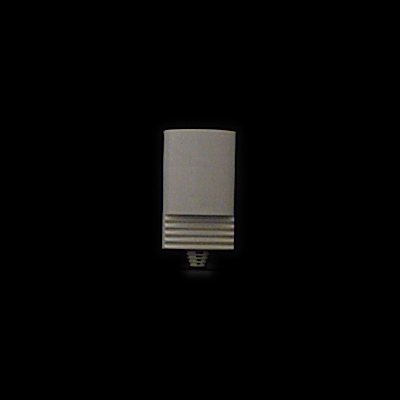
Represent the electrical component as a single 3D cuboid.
[{"bbox_3d":[0.000,0.000,0.647,0.043,0.081,0.043,0,0,0],"label":"electrical component"}]
